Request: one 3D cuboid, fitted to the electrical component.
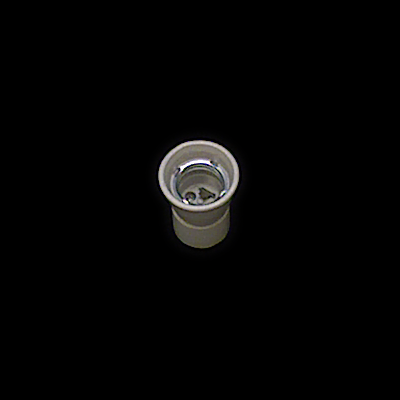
[{"bbox_3d":[0.000,0.000,0.625,0.044,0.044,0.065,0,-27,1],"label":"electrical component"}]
